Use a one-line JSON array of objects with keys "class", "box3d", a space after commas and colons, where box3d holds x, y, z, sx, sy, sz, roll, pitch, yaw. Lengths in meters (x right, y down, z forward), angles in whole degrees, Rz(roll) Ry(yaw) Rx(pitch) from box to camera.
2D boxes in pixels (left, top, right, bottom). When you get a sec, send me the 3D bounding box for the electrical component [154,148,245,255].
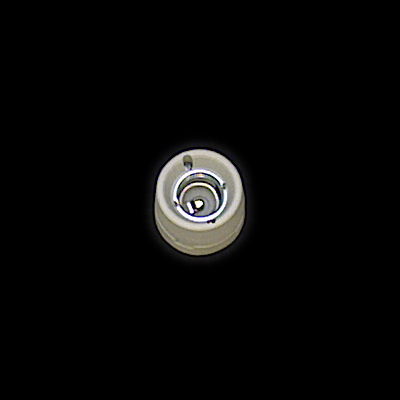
[{"class": "electrical component", "box3d": [0.000, 0.000, 0.633, 0.055, 0.056, 0.047, 0, -18, 0]}]
